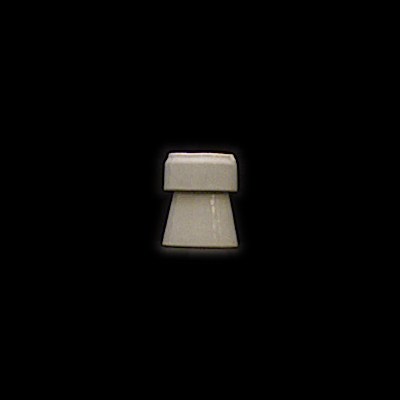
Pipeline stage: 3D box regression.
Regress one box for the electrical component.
[{"bbox_3d":[0.000,0.000,0.648,0.045,0.055,0.045,1,1,0],"label":"electrical component"}]
